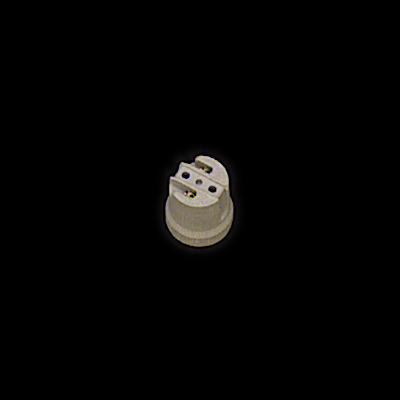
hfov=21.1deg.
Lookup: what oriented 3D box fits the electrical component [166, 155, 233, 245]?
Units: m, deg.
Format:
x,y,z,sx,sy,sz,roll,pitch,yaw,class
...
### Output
x,y,z,sx,sy,sz,roll,pitch,yaw,class
0.000,0.000,0.633,0.040,0.040,0.046,0,-27,-1,electrical component
